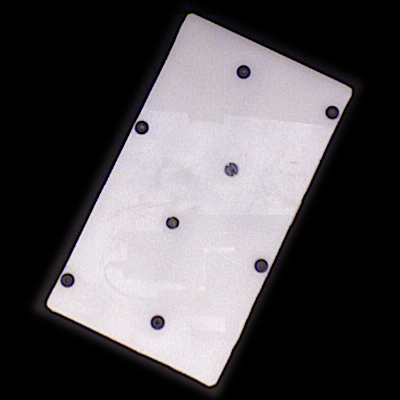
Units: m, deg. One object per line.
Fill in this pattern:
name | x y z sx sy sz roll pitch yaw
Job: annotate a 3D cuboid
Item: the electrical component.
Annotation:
electrical component | 0.000 0.000 0.625 0.105 0.187 0.060 25 -6 3
